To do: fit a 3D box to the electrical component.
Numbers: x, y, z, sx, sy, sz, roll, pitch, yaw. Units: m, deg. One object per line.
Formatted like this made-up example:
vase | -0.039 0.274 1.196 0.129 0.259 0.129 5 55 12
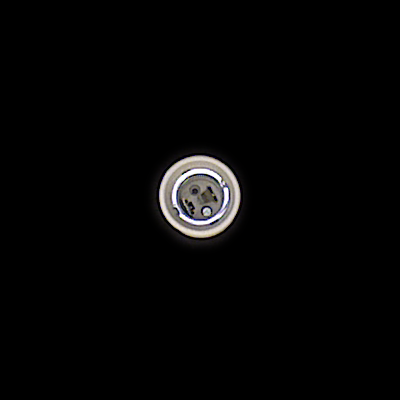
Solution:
electrical component | 0.000 0.000 0.629 0.045 0.045 0.055 0 -6 1
